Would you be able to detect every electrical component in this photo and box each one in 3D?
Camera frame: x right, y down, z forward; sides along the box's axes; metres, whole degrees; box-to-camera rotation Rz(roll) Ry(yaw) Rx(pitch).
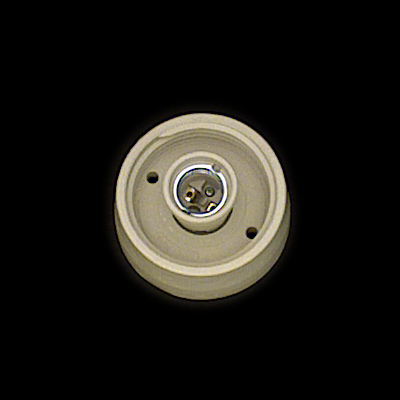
[{"bbox_3d":[0.000,0.000,0.634,0.108,0.108,0.060,0,-16,0],"label":"electrical component"}]
